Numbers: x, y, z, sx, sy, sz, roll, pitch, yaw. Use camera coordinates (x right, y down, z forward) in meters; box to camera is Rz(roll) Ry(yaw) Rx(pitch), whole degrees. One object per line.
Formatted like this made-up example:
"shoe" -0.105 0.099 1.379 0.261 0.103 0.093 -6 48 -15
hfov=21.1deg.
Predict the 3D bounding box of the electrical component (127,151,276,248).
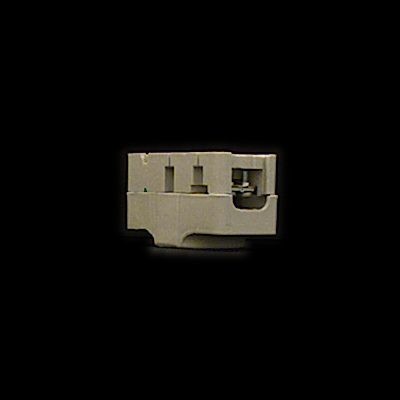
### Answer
"electrical component" 0.000 0.000 0.655 0.050 0.056 0.088 -1 2 -41
